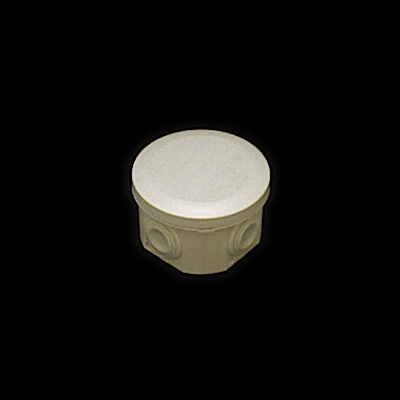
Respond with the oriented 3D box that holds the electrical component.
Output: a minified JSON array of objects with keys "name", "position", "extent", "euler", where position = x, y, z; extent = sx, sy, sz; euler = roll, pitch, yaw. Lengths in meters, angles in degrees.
[{"name":"electrical component","position":[0.000,0.000,0.631],"extent":[0.080,0.051,0.080],"euler":[0,42,0]}]
